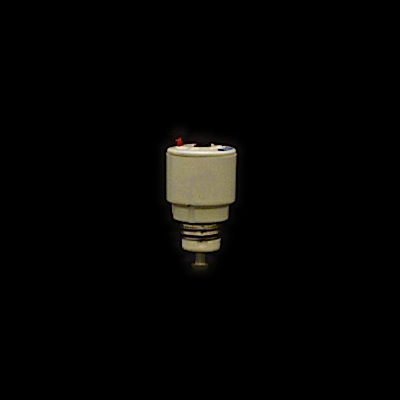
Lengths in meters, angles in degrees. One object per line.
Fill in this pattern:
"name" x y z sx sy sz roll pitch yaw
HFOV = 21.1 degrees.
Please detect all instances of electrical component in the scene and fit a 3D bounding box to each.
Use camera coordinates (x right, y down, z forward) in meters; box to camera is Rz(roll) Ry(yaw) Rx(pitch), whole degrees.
"electrical component" 0.000 0.000 0.643 0.040 0.079 0.040 1 11 0
